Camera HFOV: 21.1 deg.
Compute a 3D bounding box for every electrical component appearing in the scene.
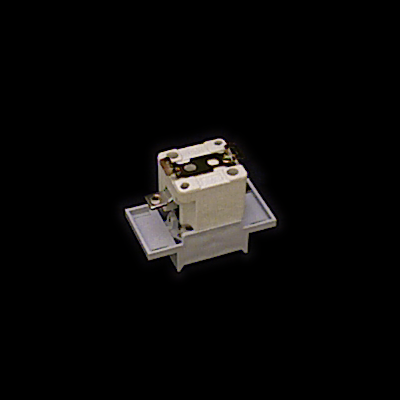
[{"bbox_3d":[0.000,0.000,0.630,0.081,0.064,0.042,-15,44,-17],"label":"electrical component"}]
